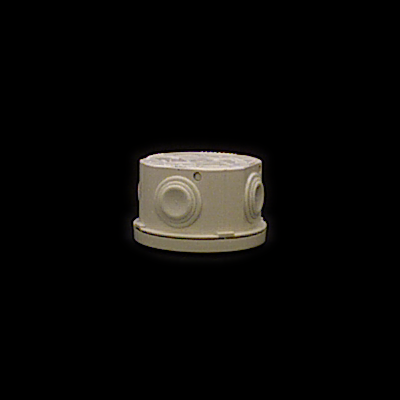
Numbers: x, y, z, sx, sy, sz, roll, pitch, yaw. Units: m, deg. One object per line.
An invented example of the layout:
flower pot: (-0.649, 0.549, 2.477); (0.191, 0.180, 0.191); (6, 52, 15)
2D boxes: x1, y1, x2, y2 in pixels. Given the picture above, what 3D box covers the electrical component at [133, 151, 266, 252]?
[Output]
electrical component: (0.000, 0.000, 0.644); (0.080, 0.051, 0.079); (1, 11, 0)
